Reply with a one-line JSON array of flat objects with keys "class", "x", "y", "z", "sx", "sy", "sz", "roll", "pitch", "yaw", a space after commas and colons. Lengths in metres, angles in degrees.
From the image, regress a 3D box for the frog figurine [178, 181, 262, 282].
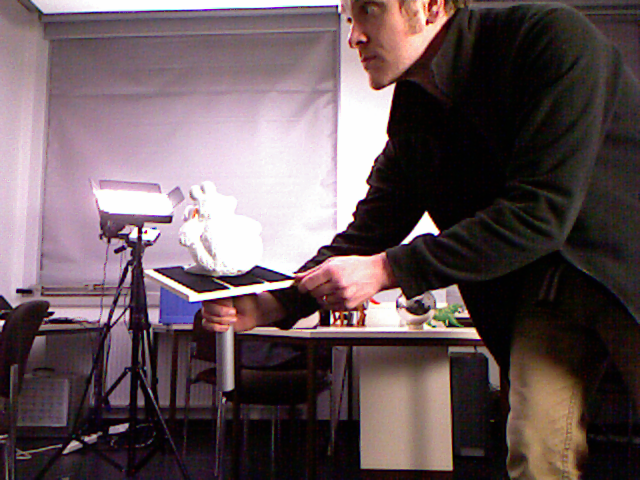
[{"class": "frog figurine", "x": -0.167, "y": -0.017, "z": 0.863, "sx": 0.138, "sy": 0.158, "sz": 0.124, "roll": -2, "pitch": 15, "yaw": -12}]
